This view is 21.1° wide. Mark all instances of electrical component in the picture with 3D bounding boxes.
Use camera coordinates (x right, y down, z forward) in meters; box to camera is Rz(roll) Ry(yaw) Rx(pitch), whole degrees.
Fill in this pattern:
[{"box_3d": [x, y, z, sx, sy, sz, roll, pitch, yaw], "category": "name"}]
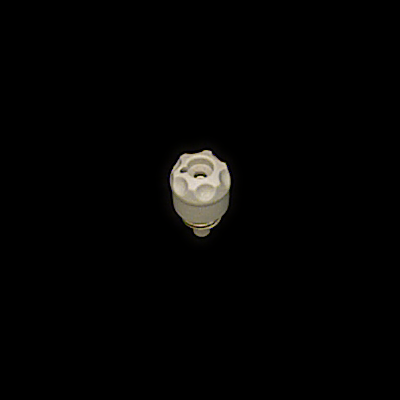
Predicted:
[{"box_3d": [0.000, 0.000, 0.635, 0.035, 0.035, 0.062, 0, -37, 0], "category": "electrical component"}]
